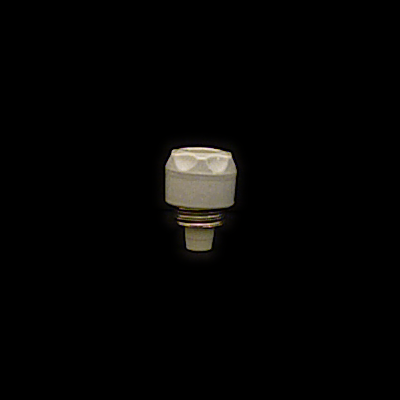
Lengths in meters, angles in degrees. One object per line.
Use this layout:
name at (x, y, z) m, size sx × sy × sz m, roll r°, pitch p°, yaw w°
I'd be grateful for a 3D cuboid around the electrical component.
electrical component at (0.000, 0.000, 0.651) m, size 0.043 × 0.062 × 0.043 m, roll 2°, pitch 12°, yaw 0°
